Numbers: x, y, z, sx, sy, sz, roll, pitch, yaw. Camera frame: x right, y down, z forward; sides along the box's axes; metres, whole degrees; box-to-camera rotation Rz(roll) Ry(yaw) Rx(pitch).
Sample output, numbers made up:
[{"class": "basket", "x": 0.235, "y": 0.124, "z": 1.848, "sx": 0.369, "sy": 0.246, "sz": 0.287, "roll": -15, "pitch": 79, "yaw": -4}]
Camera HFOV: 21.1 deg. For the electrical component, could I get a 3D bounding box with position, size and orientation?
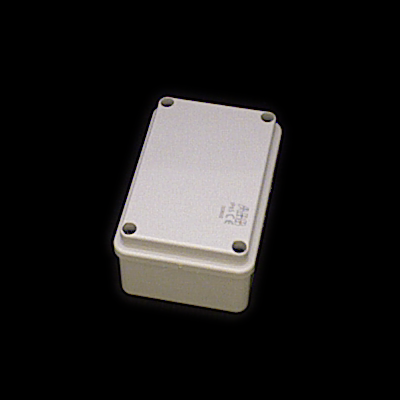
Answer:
[{"class": "electrical component", "x": 0.000, "y": 0.000, "z": 0.628, "sx": 0.078, "sy": 0.113, "sz": 0.057, "roll": 9, "pitch": -37, "yaw": 6}]
